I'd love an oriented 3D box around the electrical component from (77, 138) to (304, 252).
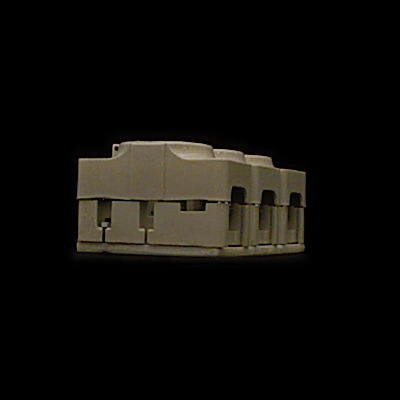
[{"bbox_3d":[0.000,0.000,0.657,0.089,0.062,0.150,1,-1,22],"label":"electrical component"}]
